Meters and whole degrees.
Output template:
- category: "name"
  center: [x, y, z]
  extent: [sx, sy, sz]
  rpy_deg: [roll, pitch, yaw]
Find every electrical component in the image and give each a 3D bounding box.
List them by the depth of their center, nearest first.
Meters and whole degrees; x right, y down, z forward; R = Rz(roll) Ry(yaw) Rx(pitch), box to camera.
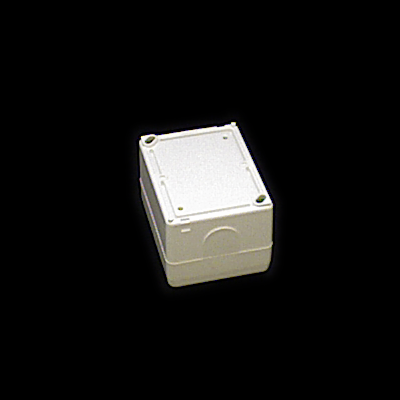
- category: "electrical component"
  center: [0.000, 0.000, 0.636]
  extent: [0.062, 0.061, 0.095]
  rpy_deg: [-10, 43, -10]
